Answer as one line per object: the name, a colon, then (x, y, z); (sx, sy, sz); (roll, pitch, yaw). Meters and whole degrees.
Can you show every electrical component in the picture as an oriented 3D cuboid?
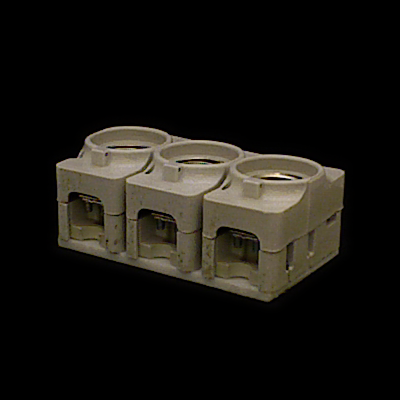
electrical component: (0.000, 0.000, 0.644); (0.149, 0.063, 0.088); (12, 24, 29)
